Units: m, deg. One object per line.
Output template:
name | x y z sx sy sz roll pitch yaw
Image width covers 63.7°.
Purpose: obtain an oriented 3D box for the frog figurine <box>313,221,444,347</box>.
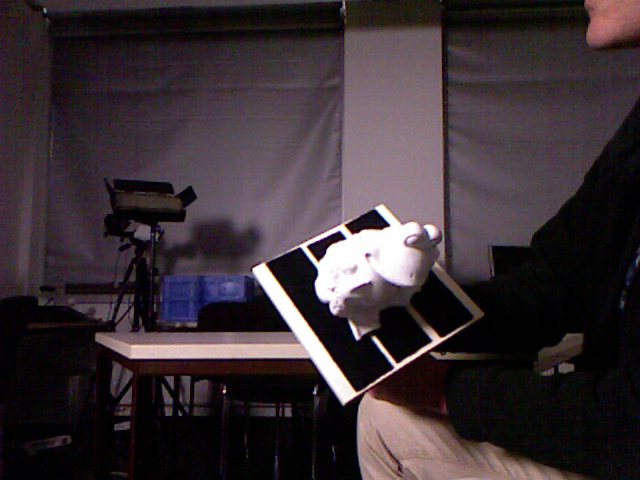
frog figurine | 0.061 0.024 0.560 0.138 0.125 0.156 -16 -35 -15
